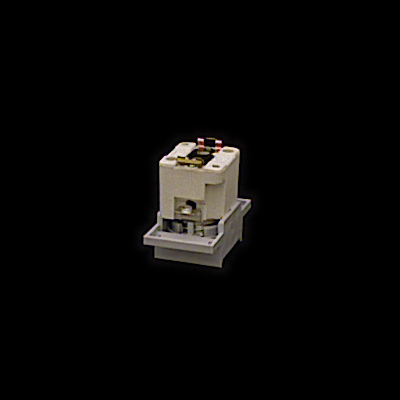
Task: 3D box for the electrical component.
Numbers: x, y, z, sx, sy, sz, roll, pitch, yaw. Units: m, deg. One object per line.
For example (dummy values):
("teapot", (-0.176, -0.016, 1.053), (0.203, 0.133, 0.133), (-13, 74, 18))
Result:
("electrical component", (0.000, 0.000, 0.638), (0.042, 0.064, 0.080), (8, 22, 16))
